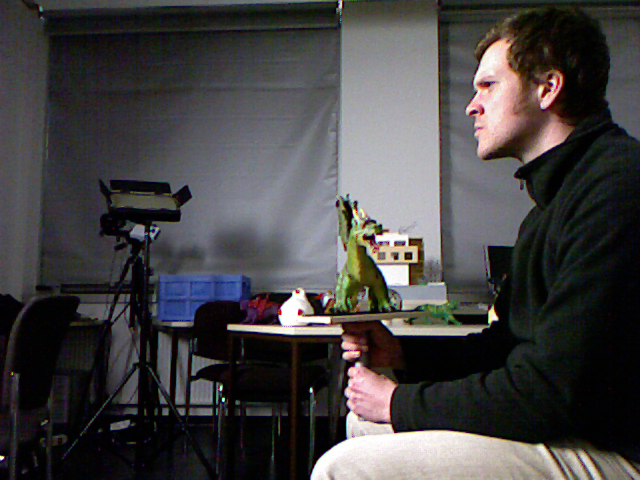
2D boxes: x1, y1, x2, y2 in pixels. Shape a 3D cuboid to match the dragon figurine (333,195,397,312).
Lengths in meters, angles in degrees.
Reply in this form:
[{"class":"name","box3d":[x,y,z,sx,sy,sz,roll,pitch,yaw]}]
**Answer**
[{"class":"dragon figurine","box3d":[0.069,0.026,1.061,0.122,0.244,0.408,-7,-3,-9]}]
